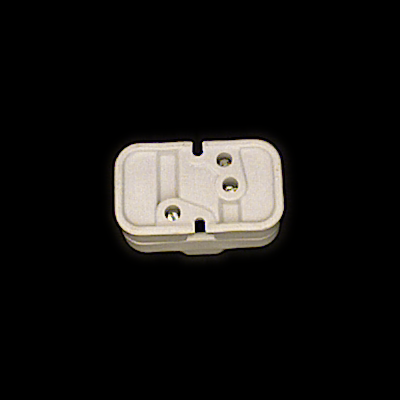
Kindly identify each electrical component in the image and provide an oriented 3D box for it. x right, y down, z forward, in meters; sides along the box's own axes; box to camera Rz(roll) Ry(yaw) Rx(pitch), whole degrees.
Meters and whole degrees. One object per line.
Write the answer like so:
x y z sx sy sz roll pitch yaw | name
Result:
0.000 0.000 0.636 0.095 0.054 0.059 -2 -16 0 | electrical component
